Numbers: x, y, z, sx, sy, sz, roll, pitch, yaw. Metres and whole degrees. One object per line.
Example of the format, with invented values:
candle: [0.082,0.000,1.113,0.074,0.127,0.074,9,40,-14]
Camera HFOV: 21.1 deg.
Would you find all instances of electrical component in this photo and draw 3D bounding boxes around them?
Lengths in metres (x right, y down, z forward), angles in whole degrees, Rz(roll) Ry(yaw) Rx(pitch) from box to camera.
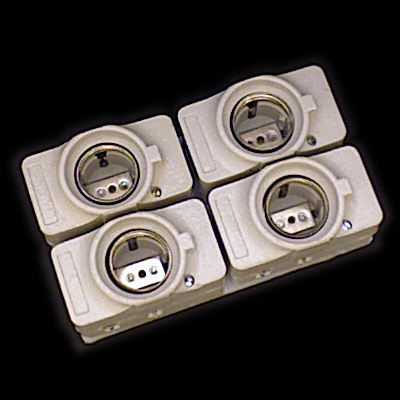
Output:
electrical component: [0.000,0.000,0.626,0.186,0.106,0.060,-19,-16,-6]
